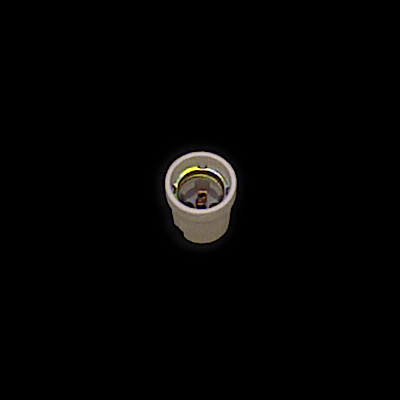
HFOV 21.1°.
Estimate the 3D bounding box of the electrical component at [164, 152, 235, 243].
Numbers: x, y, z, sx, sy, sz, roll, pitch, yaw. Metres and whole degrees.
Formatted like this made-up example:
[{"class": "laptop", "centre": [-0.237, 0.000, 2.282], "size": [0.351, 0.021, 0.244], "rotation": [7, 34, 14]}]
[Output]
[{"class": "electrical component", "centre": [0.000, 0.000, 0.627], "size": [0.040, 0.040, 0.046], "rotation": [0, -27, 0]}]
